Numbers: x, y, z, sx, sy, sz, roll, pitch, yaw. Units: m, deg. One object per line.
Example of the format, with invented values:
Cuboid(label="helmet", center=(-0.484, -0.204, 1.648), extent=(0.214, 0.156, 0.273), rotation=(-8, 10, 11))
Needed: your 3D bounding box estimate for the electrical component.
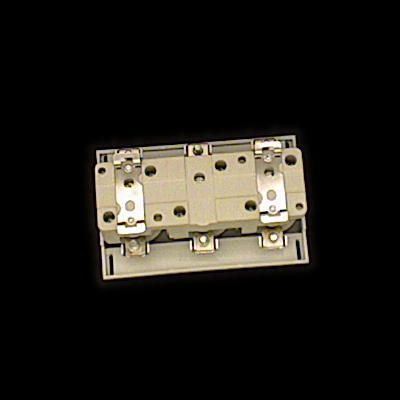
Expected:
Cuboid(label="electrical component", center=(0.000, 0.000, 0.633), extent=(0.121, 0.079, 0.062), rotation=(-5, -15, -1))
